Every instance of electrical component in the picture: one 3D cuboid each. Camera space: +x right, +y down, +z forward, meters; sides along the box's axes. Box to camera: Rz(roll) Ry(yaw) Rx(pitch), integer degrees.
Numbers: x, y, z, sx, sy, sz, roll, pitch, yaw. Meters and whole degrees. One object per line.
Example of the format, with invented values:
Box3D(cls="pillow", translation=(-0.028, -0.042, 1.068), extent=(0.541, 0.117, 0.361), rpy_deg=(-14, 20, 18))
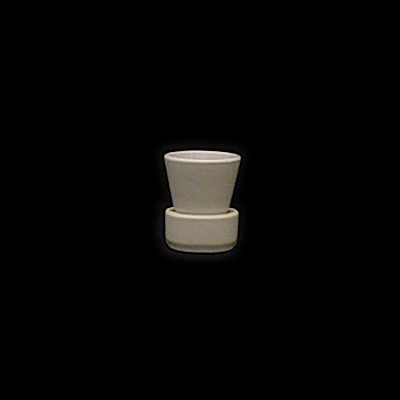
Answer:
Box3D(cls="electrical component", translation=(0.000, 0.000, 0.645), extent=(0.045, 0.055, 0.044), rpy_deg=(2, 11, 0))
